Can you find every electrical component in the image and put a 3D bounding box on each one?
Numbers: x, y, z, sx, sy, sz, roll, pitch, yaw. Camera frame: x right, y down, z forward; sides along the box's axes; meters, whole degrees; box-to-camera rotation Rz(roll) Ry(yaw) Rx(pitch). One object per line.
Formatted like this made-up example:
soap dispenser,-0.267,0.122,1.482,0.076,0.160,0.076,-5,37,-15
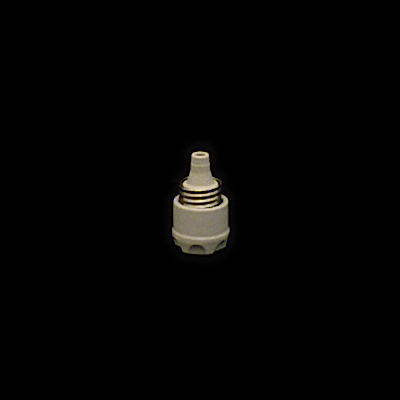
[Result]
electrical component,0.000,0.000,0.651,0.035,0.062,0.034,-1,23,0
